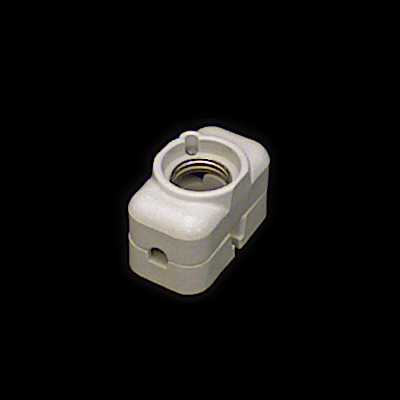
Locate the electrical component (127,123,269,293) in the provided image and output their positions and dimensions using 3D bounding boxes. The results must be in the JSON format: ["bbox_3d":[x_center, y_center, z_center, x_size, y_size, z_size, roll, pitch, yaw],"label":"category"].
[{"bbox_3d":[0.000,0.000,0.638,0.053,0.060,0.095,22,46,21],"label":"electrical component"}]
